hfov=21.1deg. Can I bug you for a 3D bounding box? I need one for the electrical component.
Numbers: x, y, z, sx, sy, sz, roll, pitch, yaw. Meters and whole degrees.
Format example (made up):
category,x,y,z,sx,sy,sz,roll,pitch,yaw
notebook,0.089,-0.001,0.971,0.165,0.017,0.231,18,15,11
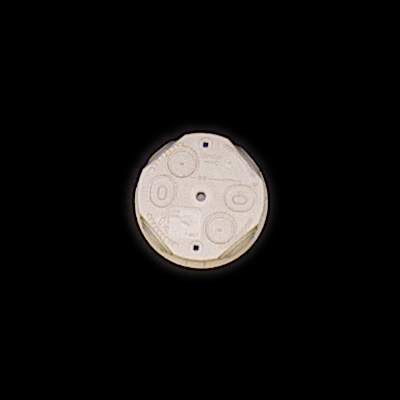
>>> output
category,x,y,z,sx,sy,sz,roll,pitch,yaw
electrical component,0.000,0.000,0.633,0.080,0.080,0.050,0,-6,0
